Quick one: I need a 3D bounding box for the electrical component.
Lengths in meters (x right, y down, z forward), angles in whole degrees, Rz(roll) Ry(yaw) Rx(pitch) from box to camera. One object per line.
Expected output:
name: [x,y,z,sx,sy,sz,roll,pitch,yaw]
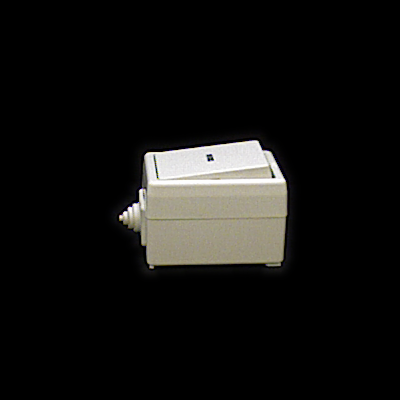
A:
electrical component: [0.000,0.000,0.639,0.096,0.061,0.061,-1,21,-5]
